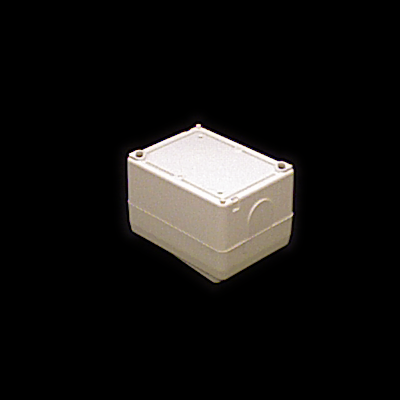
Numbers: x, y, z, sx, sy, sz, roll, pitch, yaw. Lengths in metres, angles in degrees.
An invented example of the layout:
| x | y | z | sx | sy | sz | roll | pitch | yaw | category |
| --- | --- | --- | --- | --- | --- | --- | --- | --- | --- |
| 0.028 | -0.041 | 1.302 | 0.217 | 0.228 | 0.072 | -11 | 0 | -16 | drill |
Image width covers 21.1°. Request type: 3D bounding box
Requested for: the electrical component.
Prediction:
| x | y | z | sx | sy | sz | roll | pitch | yaw | category |
| --- | --- | --- | --- | --- | --- | --- | --- | --- | --- |
| 0.000 | 0.000 | 0.637 | 0.095 | 0.061 | 0.061 | 27 | 40 | 37 | electrical component |
